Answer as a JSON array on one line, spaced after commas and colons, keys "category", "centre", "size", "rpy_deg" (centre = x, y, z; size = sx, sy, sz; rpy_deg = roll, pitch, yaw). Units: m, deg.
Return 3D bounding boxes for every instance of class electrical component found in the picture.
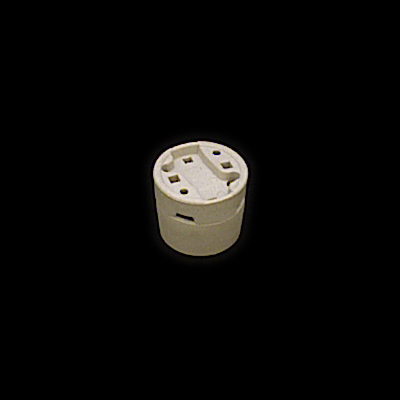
[{"category": "electrical component", "centre": [0.000, 0.000, 0.636], "size": [0.055, 0.047, 0.055], "rpy_deg": [0, 42, 0]}]
